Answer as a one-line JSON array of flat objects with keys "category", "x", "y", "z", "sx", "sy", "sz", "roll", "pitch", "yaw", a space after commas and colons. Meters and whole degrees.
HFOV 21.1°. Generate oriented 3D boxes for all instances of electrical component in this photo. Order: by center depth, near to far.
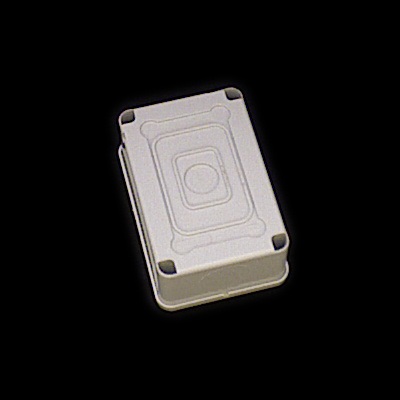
[{"category": "electrical component", "x": 0.000, "y": 0.000, "z": 0.628, "sx": 0.078, "sy": 0.113, "sz": 0.057, "roll": -13, "pitch": -26, "yaw": -7}]
